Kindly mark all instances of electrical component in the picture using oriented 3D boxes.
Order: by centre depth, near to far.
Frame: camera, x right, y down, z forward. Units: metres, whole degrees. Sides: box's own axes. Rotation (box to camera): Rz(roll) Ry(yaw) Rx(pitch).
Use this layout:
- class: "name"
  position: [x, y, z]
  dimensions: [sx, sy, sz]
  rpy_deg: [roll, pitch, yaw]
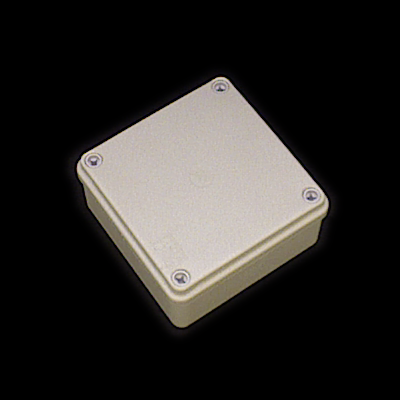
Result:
- class: "electrical component"
  position: [0.000, 0.000, 0.630]
  dimensions: [0.109, 0.108, 0.056]
  rpy_deg: [-31, -23, -16]
